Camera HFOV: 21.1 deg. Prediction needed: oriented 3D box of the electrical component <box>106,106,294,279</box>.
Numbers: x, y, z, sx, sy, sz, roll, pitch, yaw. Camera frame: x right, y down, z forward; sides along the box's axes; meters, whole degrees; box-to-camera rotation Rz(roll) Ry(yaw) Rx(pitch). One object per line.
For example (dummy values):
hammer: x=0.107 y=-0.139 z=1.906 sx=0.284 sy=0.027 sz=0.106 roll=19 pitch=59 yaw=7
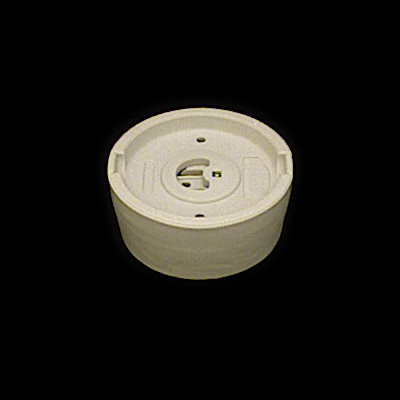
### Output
electrical component: x=0.000 y=0.000 z=0.640 sx=0.108 sy=0.061 sz=0.106 roll=0 pitch=42 yaw=0
